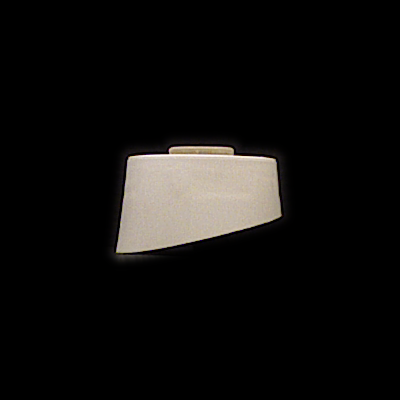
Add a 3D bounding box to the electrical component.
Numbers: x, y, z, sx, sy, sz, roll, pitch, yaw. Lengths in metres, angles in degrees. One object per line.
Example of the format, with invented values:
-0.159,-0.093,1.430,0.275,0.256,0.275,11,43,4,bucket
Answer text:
0.000,0.000,0.650,0.099,0.064,0.099,1,0,0,electrical component
